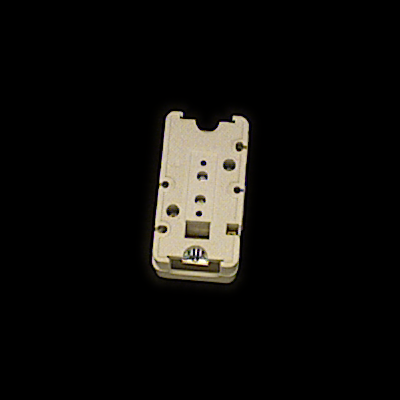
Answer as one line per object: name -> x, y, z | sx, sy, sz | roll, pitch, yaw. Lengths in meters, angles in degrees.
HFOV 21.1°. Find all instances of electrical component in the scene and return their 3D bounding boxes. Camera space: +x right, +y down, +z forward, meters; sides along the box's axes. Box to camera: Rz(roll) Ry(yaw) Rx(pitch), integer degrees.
electrical component -> 0.000, 0.000, 0.636 | 0.050, 0.090, 0.055 | 5, -16, 1
